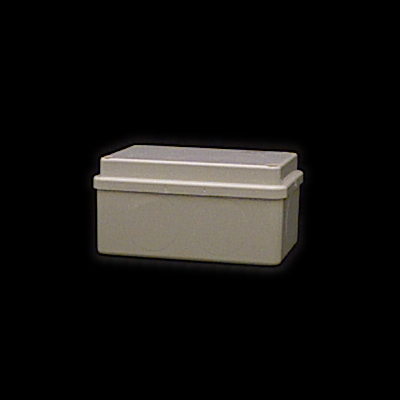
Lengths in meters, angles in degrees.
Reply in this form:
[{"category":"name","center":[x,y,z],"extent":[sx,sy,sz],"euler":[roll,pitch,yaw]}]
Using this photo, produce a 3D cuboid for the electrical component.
[{"category":"electrical component","center":[0.000,0.000,0.646],"extent":[0.113,0.057,0.077],"euler":[3,11,13]}]
